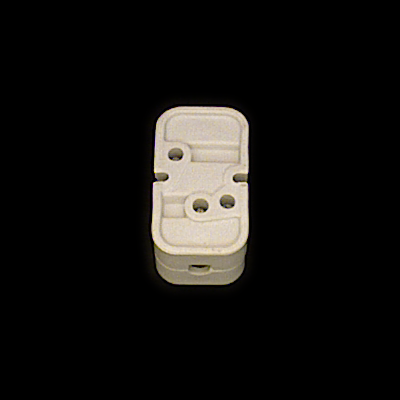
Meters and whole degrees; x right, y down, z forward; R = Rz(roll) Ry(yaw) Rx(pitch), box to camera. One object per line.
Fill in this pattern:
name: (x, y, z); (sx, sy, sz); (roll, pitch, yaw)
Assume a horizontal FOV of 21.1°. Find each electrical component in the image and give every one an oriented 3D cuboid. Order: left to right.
electrical component: (0.000, 0.000, 0.635); (0.054, 0.095, 0.059); (1, -27, 1)
